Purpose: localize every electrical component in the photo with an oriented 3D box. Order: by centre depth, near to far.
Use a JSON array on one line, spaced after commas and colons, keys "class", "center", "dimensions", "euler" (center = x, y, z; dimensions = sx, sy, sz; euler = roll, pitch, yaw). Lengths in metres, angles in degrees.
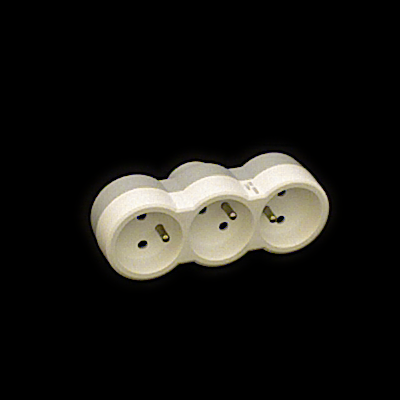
[{"class": "electrical component", "center": [0.000, 0.000, 0.646], "dimensions": [0.139, 0.053, 0.072], "euler": [-10, 32, -17]}]
